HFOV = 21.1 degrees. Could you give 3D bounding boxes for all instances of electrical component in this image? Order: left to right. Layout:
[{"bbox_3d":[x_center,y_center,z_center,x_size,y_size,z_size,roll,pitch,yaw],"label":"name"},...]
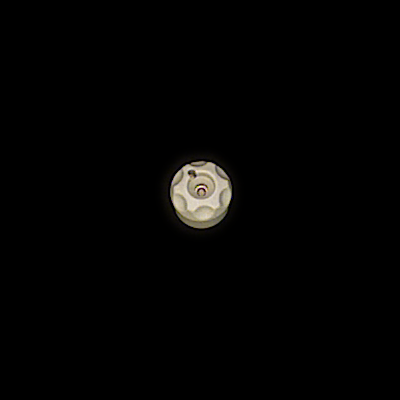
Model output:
[{"bbox_3d":[0.000,0.000,0.634,0.035,0.035,0.061,0,-16,1],"label":"electrical component"}]
